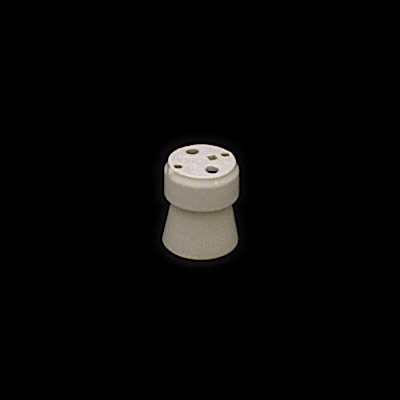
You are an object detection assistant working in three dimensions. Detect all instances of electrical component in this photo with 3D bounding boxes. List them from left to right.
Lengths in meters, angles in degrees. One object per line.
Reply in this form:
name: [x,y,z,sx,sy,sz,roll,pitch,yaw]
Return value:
electrical component: [0.000,0.000,0.634,0.045,0.056,0.044,1,32,0]
